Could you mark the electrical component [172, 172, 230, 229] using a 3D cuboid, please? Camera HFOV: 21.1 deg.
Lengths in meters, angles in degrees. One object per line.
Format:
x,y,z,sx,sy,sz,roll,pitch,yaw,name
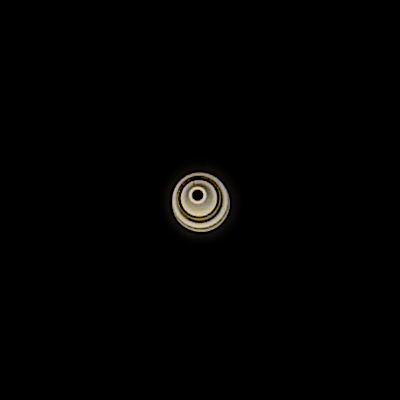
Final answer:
0.000,0.000,0.637,0.035,0.035,0.061,0,-6,2,electrical component
